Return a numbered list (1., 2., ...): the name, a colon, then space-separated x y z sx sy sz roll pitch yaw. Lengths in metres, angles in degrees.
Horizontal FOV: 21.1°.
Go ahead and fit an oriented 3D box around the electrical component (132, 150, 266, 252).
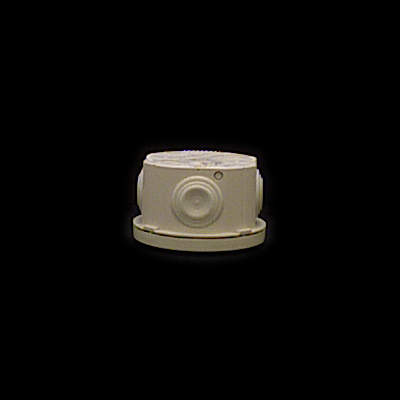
1. electrical component: 0.000 0.000 0.645 0.080 0.051 0.079 2 11 0
